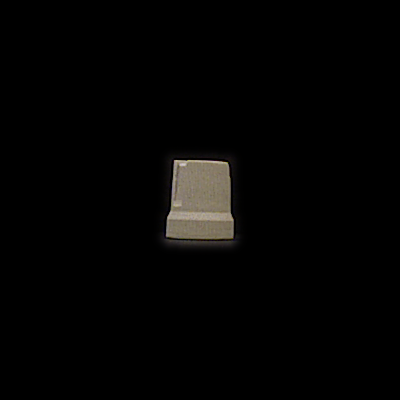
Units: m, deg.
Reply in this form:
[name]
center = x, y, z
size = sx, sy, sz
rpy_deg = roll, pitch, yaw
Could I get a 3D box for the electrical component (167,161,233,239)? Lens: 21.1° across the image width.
[electrical component]
center = 0.000, 0.000, 0.650
size = 0.040, 0.046, 0.040
rpy_deg = 1, 2, 0
